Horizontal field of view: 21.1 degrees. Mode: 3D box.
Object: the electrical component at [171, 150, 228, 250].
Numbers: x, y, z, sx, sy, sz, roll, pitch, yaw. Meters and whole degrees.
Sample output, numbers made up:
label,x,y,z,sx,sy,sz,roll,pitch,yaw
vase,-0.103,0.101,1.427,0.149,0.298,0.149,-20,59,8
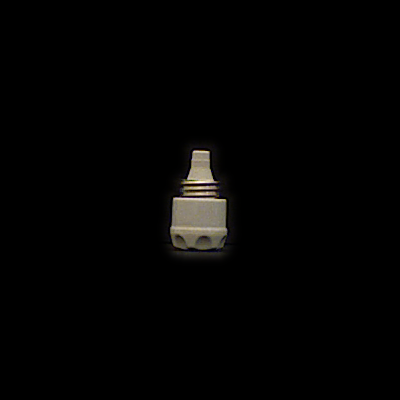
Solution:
label,x,y,z,sx,sy,sz,roll,pitch,yaw
electrical component,0.000,0.000,0.664,0.035,0.061,0.035,2,3,0
